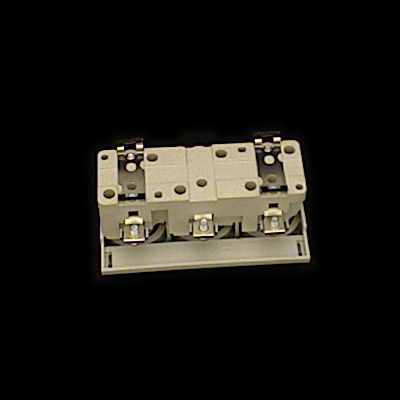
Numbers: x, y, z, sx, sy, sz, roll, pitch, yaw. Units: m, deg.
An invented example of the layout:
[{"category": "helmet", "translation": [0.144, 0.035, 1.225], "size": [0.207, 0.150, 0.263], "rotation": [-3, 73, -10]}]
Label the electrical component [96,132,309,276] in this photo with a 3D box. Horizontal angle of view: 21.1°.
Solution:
[{"category": "electrical component", "translation": [0.000, 0.000, 0.637], "size": [0.121, 0.078, 0.063], "rotation": [-3, -38, -3]}]
